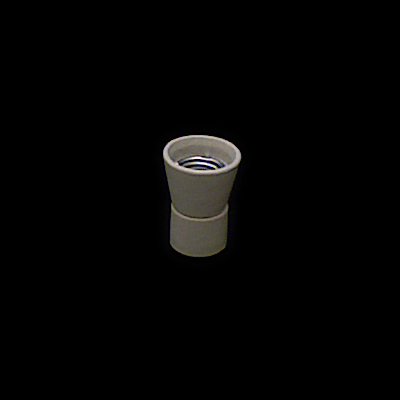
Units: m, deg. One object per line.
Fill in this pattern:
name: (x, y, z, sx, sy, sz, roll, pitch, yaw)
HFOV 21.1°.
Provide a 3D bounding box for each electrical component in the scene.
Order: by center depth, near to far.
electrical component: (0.000, 0.000, 0.634, 0.044, 0.066, 0.044, 2, 31, -1)
